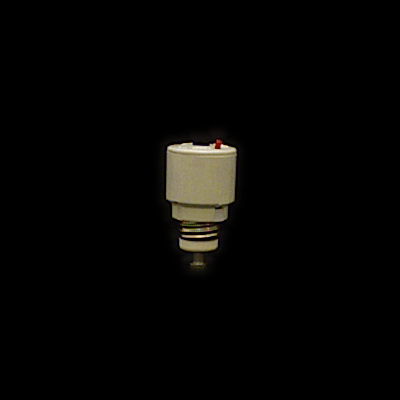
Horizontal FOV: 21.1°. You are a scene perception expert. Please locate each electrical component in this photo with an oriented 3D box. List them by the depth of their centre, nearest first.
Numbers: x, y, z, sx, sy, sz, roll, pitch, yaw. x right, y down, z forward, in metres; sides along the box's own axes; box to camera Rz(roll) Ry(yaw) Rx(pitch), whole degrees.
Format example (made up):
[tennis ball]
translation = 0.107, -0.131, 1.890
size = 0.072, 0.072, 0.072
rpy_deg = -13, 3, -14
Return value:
[electrical component]
translation = 0.000, 0.000, 0.640
size = 0.040, 0.079, 0.040
rpy_deg = 2, 11, 0
